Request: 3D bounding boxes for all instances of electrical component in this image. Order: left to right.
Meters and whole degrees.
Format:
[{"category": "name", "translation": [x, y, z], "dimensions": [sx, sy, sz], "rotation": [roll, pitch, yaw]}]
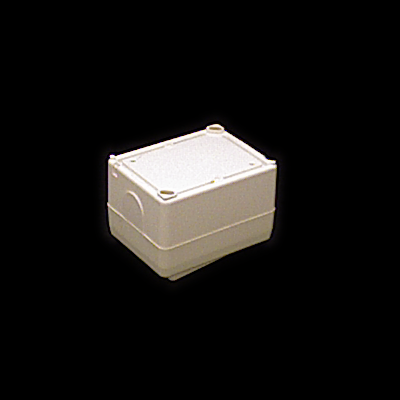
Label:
[{"category": "electrical component", "translation": [0.000, 0.000, 0.634], "dimensions": [0.096, 0.061, 0.061], "rotation": [-19, 37, -30]}]
